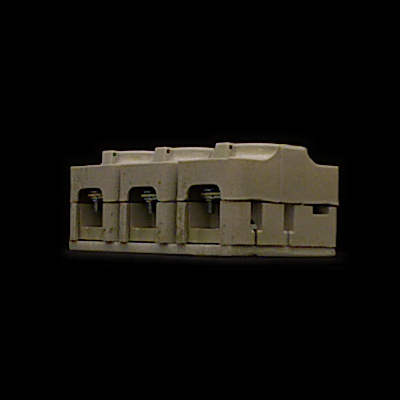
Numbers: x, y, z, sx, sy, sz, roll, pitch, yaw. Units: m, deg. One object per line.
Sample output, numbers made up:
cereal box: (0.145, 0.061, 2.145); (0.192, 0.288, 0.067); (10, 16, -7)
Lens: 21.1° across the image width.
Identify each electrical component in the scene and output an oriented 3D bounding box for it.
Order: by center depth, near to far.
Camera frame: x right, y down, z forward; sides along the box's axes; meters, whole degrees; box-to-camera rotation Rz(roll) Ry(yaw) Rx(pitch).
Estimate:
electrical component: (0.000, 0.000, 0.655); (0.090, 0.062, 0.150); (1, -1, -43)
